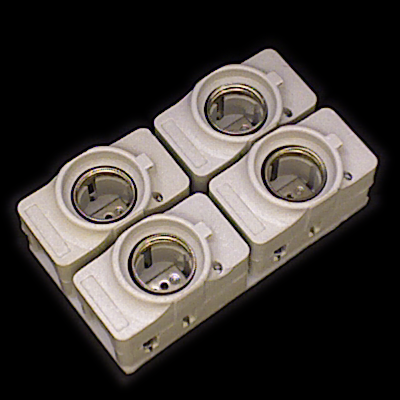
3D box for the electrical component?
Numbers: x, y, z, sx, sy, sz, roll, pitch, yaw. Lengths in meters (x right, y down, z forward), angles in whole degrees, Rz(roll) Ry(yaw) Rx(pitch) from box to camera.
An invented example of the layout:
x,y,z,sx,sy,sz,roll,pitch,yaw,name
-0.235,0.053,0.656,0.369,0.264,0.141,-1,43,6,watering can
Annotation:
x,y,z,sx,sy,sz,roll,pitch,yaw,name
0.000,0.000,0.626,0.187,0.105,0.060,-34,-22,-17,electrical component
